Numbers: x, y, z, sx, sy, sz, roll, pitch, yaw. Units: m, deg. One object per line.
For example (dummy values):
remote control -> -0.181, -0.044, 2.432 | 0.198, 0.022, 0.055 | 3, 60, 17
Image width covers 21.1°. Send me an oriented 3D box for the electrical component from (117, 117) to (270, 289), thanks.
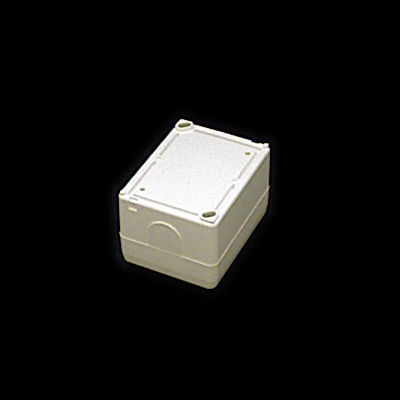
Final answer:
electrical component -> 0.000, 0.000, 0.636 | 0.061, 0.062, 0.095 | 18, 44, 19
